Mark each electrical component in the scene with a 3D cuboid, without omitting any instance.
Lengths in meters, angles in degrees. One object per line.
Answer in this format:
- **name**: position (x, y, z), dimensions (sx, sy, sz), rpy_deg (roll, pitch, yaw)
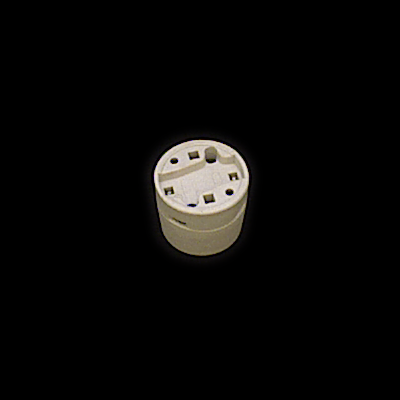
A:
- **electrical component**: position (0.000, 0.000, 0.634), dimensions (0.055, 0.055, 0.047), rpy_deg (0, -38, 0)
